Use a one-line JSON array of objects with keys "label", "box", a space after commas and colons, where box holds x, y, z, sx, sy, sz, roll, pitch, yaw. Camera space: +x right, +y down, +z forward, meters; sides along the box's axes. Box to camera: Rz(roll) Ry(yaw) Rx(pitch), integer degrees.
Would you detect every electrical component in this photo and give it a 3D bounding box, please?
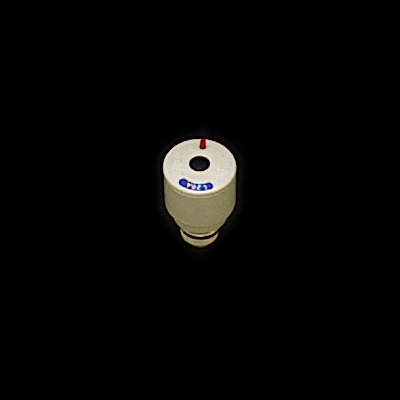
[{"label": "electrical component", "box": [0.000, 0.000, 0.622, 0.040, 0.040, 0.079, 0, -39, 0]}]
